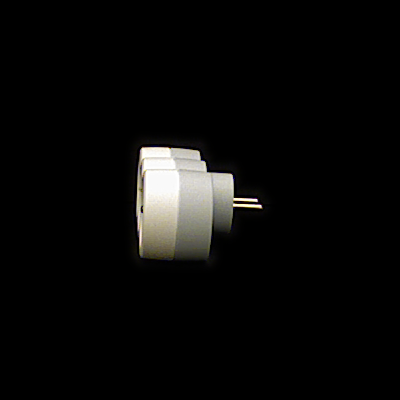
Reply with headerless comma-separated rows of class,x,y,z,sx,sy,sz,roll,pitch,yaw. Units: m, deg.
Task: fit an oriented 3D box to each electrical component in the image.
electrical component,0.000,0.000,0.650,0.074,0.052,0.137,2,11,-5
